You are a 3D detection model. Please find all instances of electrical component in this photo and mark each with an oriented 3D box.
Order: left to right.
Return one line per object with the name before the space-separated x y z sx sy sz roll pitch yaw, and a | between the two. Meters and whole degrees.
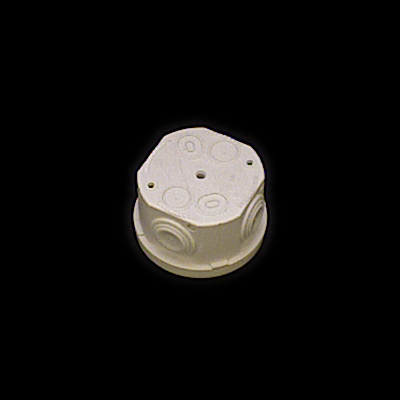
electrical component | 0.000 0.000 0.633 0.080 0.080 0.051 0 -38 -1
